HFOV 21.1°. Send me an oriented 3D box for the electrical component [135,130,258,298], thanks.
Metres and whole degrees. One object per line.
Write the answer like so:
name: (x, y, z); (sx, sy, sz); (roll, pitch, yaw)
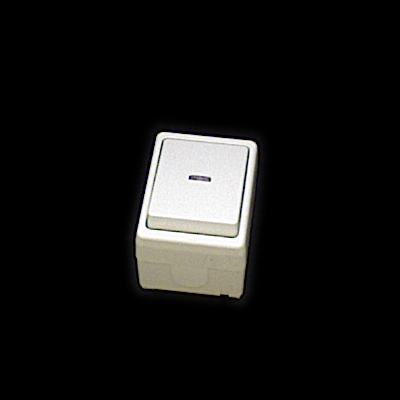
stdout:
electrical component: (0.000, 0.000, 0.629); (0.062, 0.096, 0.061); (6, -38, 4)
